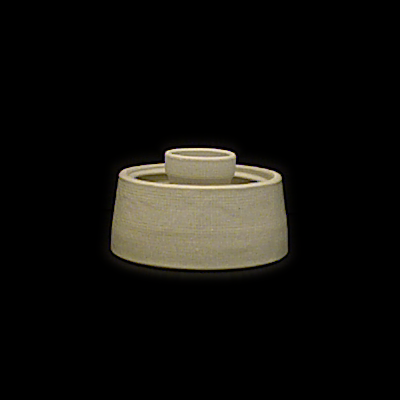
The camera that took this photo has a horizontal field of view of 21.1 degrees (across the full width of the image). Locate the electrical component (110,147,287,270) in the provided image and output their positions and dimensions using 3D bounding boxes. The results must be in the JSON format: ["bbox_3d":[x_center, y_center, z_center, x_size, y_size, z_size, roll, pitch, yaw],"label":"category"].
[{"bbox_3d":[0.000,0.000,0.650,0.108,0.061,0.107,1,11,0],"label":"electrical component"}]
